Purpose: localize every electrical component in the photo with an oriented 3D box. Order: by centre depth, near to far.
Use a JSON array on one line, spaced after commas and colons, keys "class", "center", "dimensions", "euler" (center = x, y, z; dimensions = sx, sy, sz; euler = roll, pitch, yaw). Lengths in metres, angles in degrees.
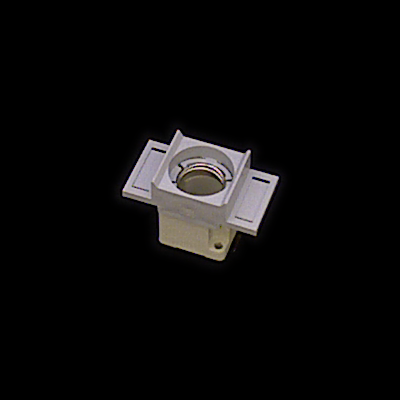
[{"class": "electrical component", "center": [0.000, 0.000, 0.626], "dimensions": [0.080, 0.042, 0.064], "euler": [17, -35, 12]}]
